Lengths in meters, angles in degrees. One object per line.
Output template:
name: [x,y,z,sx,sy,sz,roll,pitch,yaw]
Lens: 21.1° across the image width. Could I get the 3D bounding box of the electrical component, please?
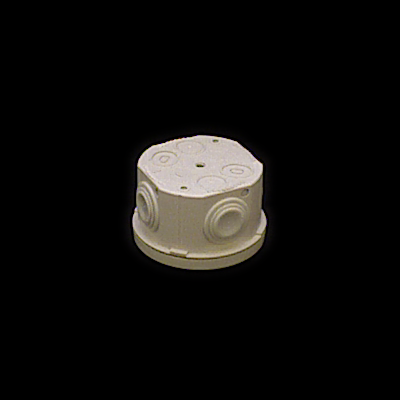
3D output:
electrical component: [0.000,0.000,0.636,0.080,0.051,0.079,1,32,0]
